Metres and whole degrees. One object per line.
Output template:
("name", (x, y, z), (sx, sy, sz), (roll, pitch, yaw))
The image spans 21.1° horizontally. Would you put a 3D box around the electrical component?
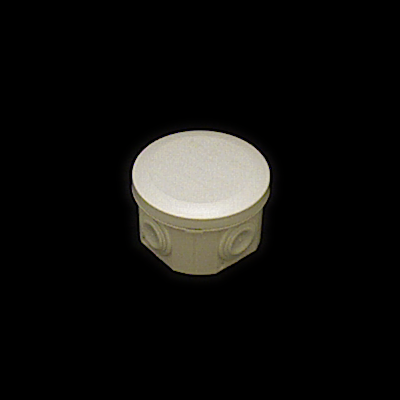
("electrical component", (0.000, 0.000, 0.632), (0.080, 0.051, 0.080), (0, 42, 0))
